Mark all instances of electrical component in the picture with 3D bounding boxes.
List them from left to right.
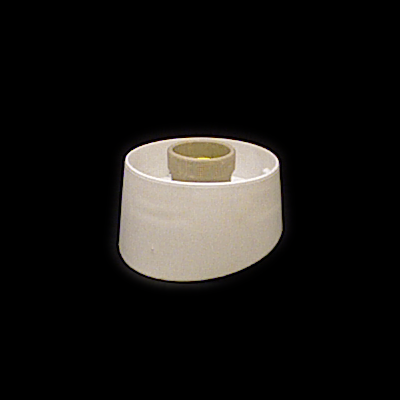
[{"bbox_3d":[0.000,0.000,0.639,0.099,0.065,0.097,1,21,0],"label":"electrical component"}]
